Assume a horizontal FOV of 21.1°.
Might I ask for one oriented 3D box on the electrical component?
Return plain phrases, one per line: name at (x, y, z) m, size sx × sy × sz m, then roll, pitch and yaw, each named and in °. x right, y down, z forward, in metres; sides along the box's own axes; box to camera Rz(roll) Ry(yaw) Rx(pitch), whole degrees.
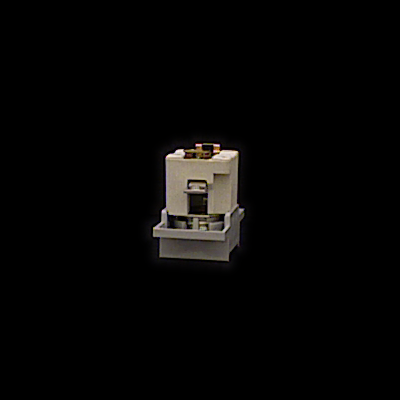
electrical component at (0.000, 0.000, 0.645) m, size 0.042 × 0.064 × 0.080 m, roll 3°, pitch 11°, yaw 9°
